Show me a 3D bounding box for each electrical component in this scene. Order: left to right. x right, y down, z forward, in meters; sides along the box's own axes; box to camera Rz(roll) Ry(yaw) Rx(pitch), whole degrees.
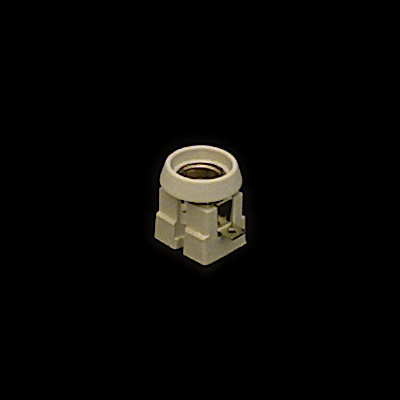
[{"bbox_3d":[0.000,0.000,0.643,0.065,0.056,0.048,27,43,35],"label":"electrical component"}]
